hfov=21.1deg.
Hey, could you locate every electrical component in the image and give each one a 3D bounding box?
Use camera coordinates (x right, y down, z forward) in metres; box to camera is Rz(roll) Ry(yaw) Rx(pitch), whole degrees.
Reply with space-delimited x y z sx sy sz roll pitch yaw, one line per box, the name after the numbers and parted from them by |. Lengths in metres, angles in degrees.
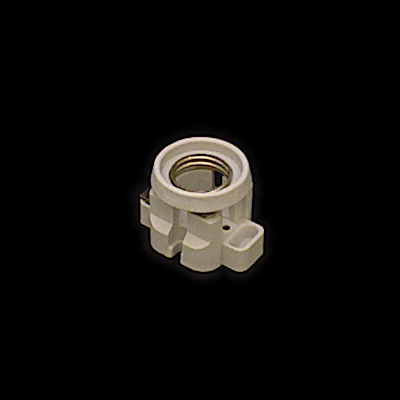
0.000 0.000 0.632 0.078 0.057 0.058 26 48 25 | electrical component
